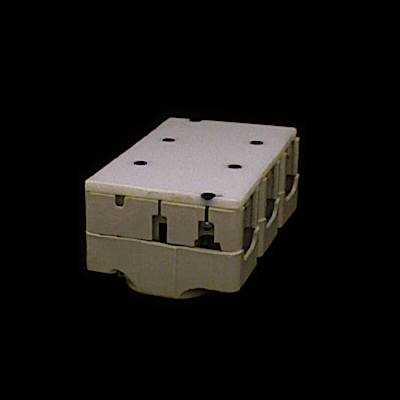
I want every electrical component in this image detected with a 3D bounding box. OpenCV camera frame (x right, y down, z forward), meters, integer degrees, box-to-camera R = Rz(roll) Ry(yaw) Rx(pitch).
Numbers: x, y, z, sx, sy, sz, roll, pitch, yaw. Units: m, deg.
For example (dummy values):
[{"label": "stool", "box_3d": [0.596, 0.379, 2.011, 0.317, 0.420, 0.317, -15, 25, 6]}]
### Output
[{"label": "electrical component", "box_3d": [0.000, 0.000, 0.648, 0.089, 0.063, 0.147, 7, 21, 16]}]
